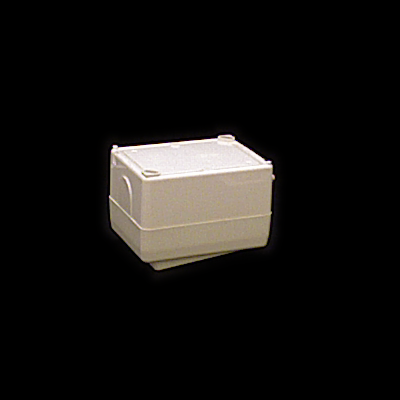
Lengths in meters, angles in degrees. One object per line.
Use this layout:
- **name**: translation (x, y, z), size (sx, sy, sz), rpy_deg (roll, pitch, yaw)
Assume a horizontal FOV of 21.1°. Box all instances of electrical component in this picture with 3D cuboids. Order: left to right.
- **electrical component**: translation (0.000, 0.000, 0.638), size (0.096, 0.061, 0.061), rpy_deg (-7, 22, -22)
